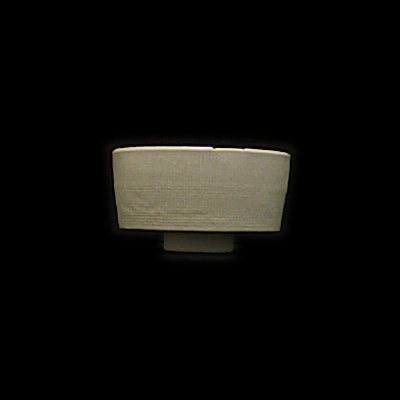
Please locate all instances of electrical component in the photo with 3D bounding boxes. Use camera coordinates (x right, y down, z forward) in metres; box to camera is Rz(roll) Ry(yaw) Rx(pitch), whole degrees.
[{"bbox_3d":[0.000,0.000,0.654,0.108,0.060,0.108,1,0,0],"label":"electrical component"}]
